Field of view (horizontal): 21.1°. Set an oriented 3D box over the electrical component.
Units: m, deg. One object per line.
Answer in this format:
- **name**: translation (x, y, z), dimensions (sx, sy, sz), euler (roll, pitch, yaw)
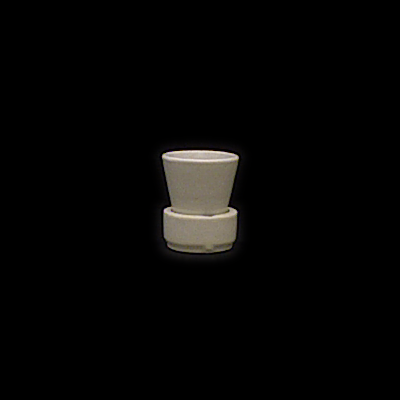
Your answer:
- **electrical component**: translation (0.000, 0.000, 0.642), dimensions (0.045, 0.055, 0.044), euler (1, 11, 0)
